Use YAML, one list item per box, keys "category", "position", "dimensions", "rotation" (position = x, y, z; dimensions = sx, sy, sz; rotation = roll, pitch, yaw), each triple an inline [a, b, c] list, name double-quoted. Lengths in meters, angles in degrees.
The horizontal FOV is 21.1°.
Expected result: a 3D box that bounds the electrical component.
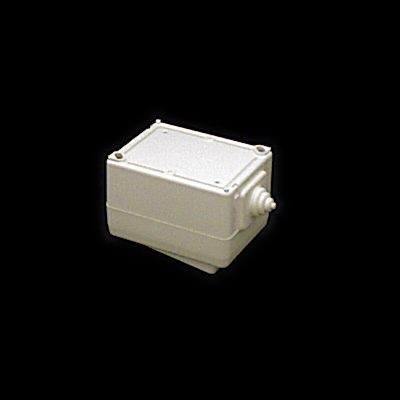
- category: "electrical component"
  position: [0.000, 0.000, 0.633]
  dimensions: [0.096, 0.061, 0.061]
  rotation: [16, 34, 23]
